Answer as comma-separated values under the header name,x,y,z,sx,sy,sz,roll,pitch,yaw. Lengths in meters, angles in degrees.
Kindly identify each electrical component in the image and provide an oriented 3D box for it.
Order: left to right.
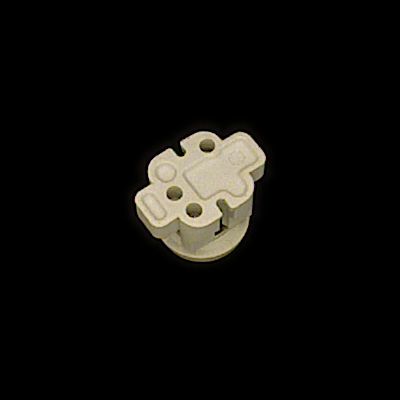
name,x,y,z,sx,sy,sz,roll,pitch,yaw
electrical component,0.000,0.000,0.636,0.079,0.057,0.057,-33,-23,-16
